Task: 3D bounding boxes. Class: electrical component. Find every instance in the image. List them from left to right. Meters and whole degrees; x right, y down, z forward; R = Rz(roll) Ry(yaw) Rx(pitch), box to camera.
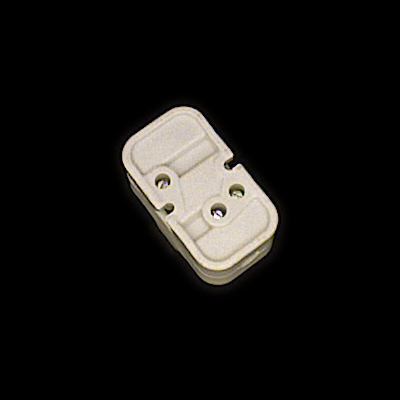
[{"bbox_3d":[0.000,0.000,0.636,0.054,0.095,0.059,-36,-13,-9],"label":"electrical component"}]
